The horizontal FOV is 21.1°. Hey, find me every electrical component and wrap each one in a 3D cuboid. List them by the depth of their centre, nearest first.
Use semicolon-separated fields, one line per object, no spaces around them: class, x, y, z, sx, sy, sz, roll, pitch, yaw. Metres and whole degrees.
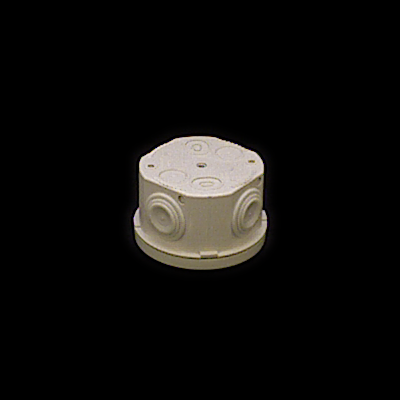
electrical component;0.000;0.000;0.638;0.080;0.051;0.079;1;31;-1
